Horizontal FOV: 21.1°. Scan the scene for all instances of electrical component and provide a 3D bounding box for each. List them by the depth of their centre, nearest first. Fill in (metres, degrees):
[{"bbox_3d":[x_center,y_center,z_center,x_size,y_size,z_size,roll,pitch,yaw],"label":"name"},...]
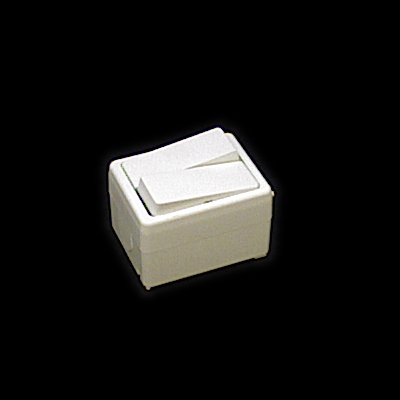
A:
[{"bbox_3d":[0.000,0.000,0.631,0.096,0.061,0.061,-15,44,-17],"label":"electrical component"}]
